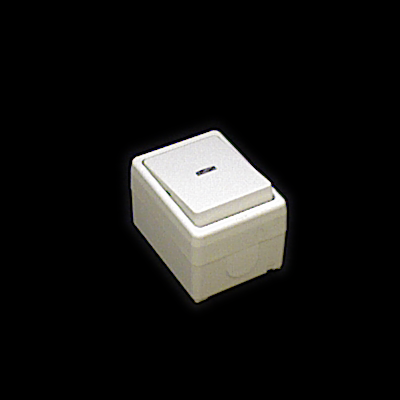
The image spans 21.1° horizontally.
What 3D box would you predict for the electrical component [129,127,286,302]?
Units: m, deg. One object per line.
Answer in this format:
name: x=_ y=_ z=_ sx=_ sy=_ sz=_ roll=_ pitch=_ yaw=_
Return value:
electrical component: x=0.000 y=0.000 z=0.632 sx=0.062 sy=0.061 sz=0.095 roll=-21 pitch=46 yaw=-22
